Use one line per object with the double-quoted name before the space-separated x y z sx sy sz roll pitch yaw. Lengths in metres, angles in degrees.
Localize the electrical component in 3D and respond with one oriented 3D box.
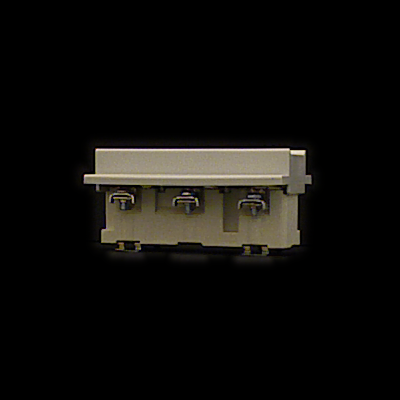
"electrical component" 0.000 0.000 0.661 0.121 0.063 0.078 1 2 18
